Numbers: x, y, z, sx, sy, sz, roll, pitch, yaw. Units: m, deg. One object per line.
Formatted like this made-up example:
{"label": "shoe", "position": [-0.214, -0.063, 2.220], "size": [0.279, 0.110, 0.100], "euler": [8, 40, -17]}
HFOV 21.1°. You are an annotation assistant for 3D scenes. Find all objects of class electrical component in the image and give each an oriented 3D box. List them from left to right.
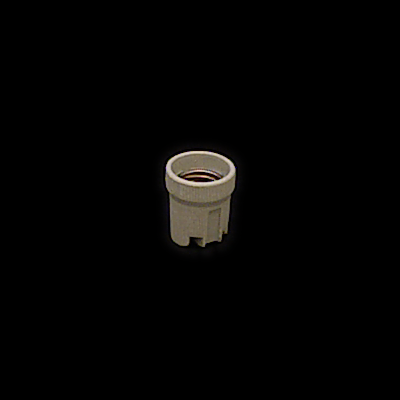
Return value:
{"label": "electrical component", "position": [0.000, 0.000, 0.634], "size": [0.040, 0.047, 0.039], "euler": [1, 32, 0]}
